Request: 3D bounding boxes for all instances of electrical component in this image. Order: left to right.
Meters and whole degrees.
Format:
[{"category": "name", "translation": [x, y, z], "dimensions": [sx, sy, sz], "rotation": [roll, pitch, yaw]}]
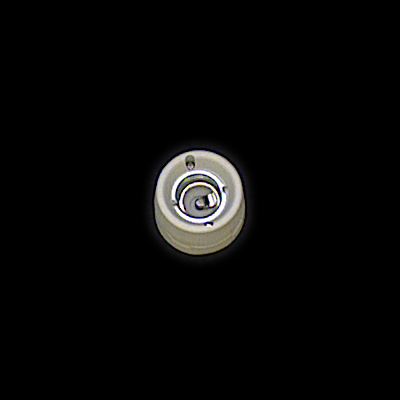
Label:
[{"category": "electrical component", "translation": [0.000, 0.000, 0.632], "dimensions": [0.055, 0.056, 0.047], "rotation": [0, -16, 0]}]
